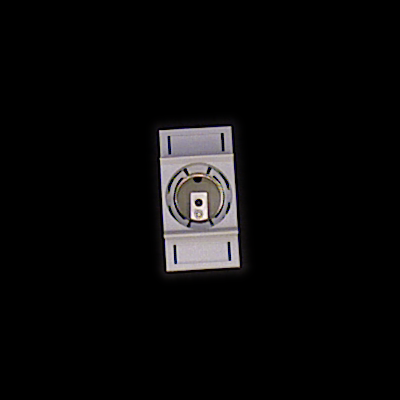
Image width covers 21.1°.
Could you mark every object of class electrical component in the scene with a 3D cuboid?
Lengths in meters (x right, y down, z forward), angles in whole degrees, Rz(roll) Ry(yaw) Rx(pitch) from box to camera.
[{"bbox_3d":[0.000,0.000,0.624,0.042,0.081,0.063,-3,-7,-1],"label":"electrical component"}]
